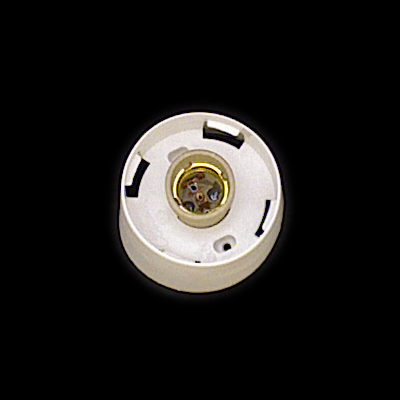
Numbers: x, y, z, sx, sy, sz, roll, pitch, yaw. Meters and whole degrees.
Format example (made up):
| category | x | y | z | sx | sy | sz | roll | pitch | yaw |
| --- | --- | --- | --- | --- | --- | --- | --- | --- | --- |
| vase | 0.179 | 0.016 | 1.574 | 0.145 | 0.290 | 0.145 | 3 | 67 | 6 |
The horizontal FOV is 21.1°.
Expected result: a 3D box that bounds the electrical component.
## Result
| category | x | y | z | sx | sy | sz | roll | pitch | yaw |
| --- | --- | --- | --- | --- | --- | --- | --- | --- | --- |
| electrical component | 0.000 | 0.000 | 0.625 | 0.099 | 0.099 | 0.064 | 0 | -17 | 0 |
